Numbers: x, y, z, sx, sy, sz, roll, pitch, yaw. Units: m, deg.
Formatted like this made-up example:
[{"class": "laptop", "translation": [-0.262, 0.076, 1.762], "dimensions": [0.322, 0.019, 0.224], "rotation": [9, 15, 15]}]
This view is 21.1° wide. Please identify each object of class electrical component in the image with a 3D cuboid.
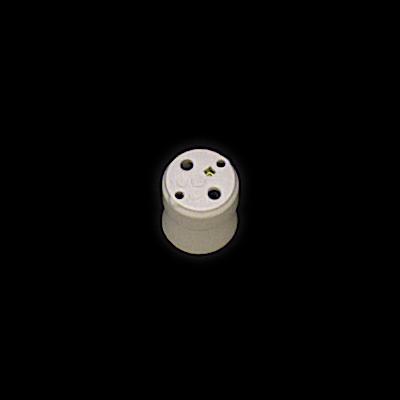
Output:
[{"class": "electrical component", "translation": [0.000, 0.000, 0.628], "dimensions": [0.045, 0.045, 0.055], "rotation": [0, -26, 0]}]
